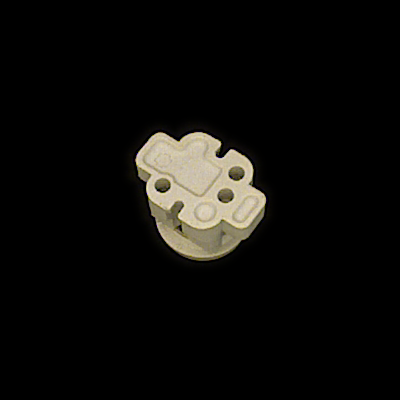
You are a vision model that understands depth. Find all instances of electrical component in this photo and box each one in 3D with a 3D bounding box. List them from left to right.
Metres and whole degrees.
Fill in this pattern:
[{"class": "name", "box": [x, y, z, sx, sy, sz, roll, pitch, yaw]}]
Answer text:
[{"class": "electrical component", "box": [0.000, 0.000, 0.635, 0.078, 0.058, 0.057, 31, -22, 16]}]
